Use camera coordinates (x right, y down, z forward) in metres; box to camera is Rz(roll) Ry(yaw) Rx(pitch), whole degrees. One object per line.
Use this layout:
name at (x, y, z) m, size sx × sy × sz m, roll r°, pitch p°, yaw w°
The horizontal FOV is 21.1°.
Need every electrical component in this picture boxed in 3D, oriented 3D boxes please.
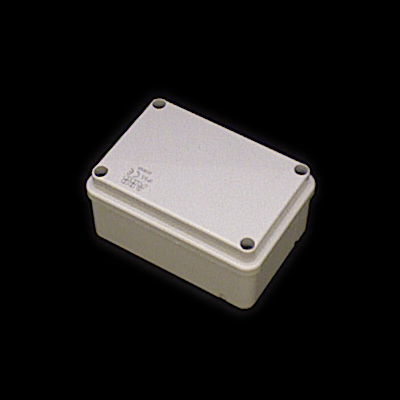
electrical component at (0.000, 0.000, 0.627) m, size 0.113 × 0.078 × 0.057 m, roll 26°, pitch -33°, yaw 18°
